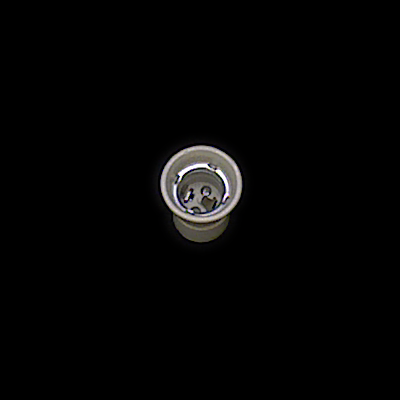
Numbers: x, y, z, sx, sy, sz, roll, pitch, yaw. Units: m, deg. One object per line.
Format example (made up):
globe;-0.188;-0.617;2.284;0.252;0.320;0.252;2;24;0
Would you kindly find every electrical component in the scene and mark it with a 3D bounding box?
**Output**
electrical component;0.000;0.000;0.625;0.044;0.044;0.065;0;-18;0
